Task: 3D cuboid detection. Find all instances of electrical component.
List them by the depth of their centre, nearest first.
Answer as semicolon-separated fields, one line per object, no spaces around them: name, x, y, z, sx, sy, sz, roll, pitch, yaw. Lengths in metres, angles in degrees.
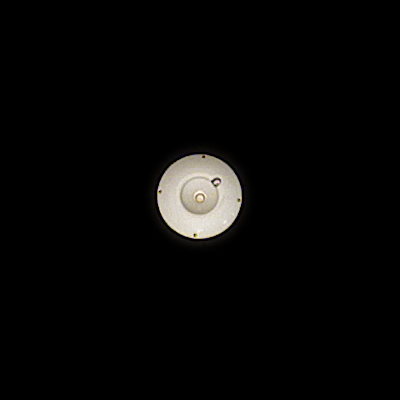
electrical component;0.000;0.000;0.634;0.048;0.048;0.062;0;-6;0
